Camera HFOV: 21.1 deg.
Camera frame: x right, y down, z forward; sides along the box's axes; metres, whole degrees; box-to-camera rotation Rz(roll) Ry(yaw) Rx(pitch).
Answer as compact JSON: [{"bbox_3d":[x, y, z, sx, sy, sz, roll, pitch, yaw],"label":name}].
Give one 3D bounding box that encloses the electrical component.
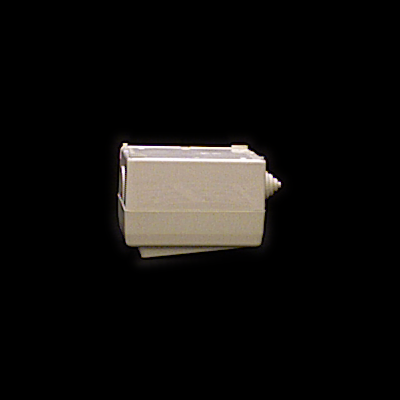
[{"bbox_3d":[0.000,0.000,0.642,0.096,0.061,0.061,0,11,-9],"label":"electrical component"}]
